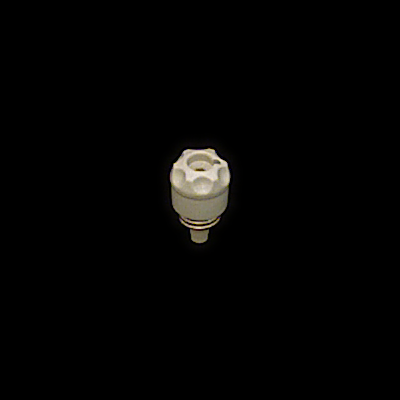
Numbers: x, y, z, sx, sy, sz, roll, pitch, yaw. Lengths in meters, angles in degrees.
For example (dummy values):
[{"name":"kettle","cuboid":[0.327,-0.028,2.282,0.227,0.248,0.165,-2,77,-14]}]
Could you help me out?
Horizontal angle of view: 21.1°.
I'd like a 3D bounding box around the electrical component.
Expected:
[{"name":"electrical component","cuboid":[0.000,0.000,0.637,0.035,0.062,0.035,1,43,0]}]
